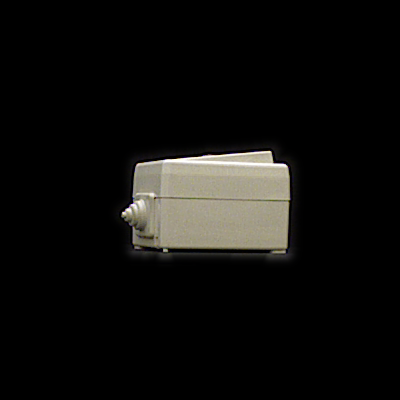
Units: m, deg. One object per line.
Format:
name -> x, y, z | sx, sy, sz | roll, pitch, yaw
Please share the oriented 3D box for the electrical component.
electrical component -> 0.000, 0.000, 0.649 | 0.096, 0.061, 0.061 | 1, 0, -21
